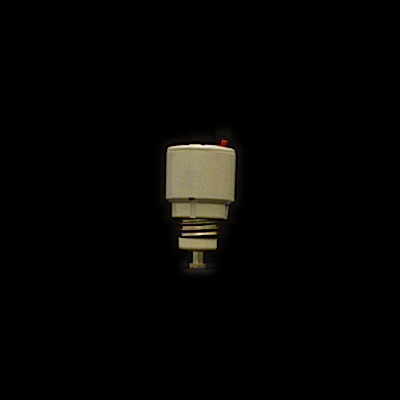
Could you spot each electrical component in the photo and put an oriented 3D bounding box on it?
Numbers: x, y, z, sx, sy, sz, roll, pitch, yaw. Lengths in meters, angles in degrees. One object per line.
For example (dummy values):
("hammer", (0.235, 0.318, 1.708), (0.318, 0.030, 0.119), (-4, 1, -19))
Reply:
("electrical component", (0.000, 0.000, 0.648), (0.040, 0.078, 0.040), (2, 1, 0))
